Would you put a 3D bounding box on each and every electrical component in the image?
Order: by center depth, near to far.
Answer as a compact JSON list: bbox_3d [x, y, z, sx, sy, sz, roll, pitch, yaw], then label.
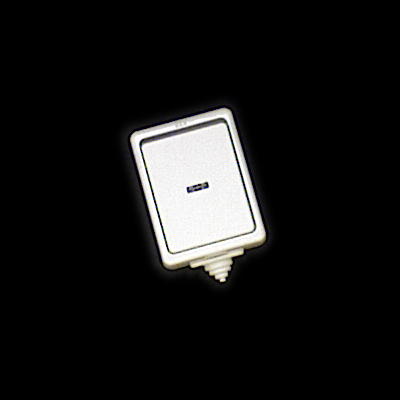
[{"bbox_3d":[0.000,0.000,0.626,0.062,0.096,0.061,-15,-7,-1],"label":"electrical component"}]
